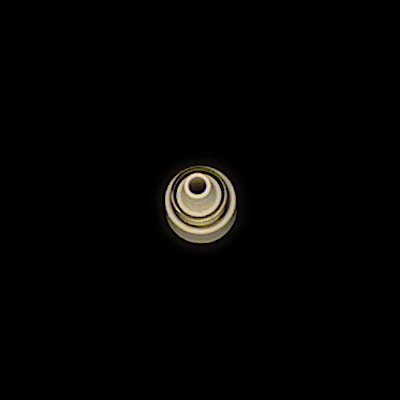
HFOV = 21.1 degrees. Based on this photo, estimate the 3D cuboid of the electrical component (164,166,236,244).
[{"bbox_3d":[0.000,0.000,0.634,0.043,0.043,0.061,0,-16,2],"label":"electrical component"}]
